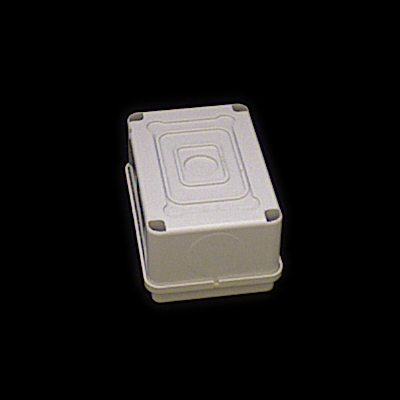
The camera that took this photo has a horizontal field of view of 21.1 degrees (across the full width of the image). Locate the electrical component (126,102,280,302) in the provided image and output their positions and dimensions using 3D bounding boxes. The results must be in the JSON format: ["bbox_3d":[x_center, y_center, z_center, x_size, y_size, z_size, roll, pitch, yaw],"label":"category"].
[{"bbox_3d":[0.000,0.000,0.631,0.078,0.057,0.112,-5,43,-7],"label":"electrical component"}]
